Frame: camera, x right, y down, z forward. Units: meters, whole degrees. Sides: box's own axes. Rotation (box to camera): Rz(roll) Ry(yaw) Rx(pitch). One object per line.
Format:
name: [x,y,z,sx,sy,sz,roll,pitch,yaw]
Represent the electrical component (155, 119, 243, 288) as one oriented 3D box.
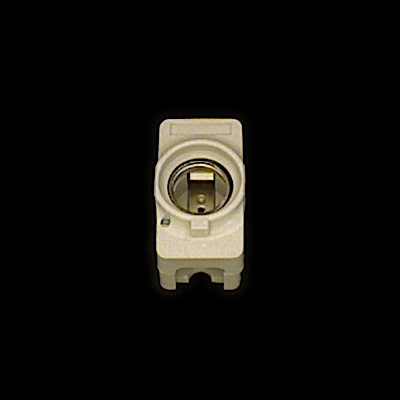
electrical component: [0.000,0.000,0.635,0.050,0.089,0.055,0,-27,0]
